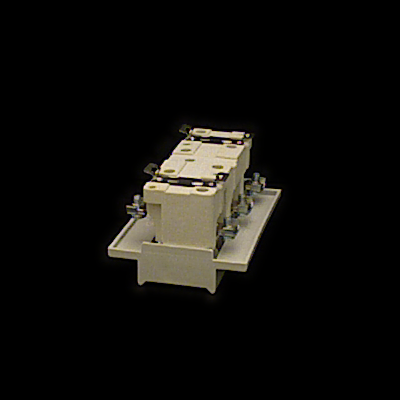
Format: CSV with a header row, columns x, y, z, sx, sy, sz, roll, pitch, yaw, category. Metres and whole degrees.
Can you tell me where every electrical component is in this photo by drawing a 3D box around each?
x,y,z,sx,sy,sz,roll,pitch,yaw,category
0.000,0.000,0.646,0.078,0.064,0.120,6,22,11,electrical component
